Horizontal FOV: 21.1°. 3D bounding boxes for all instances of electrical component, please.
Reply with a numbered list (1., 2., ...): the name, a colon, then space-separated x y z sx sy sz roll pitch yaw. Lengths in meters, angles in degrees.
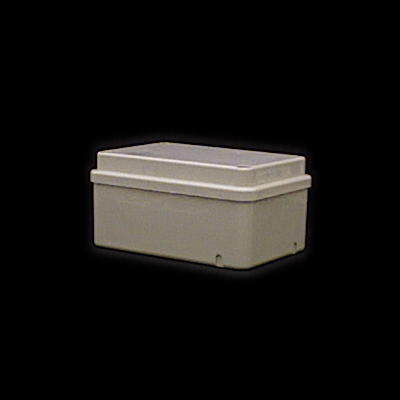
1. electrical component: 0.000 0.000 0.642 0.112 0.057 0.078 8 12 32
